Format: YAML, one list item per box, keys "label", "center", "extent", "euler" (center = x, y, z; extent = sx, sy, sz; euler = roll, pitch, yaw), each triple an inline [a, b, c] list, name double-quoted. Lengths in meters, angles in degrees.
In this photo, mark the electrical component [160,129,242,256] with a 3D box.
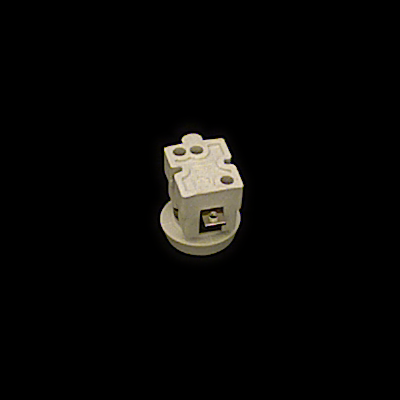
- label: "electrical component"
  center: [0.000, 0.000, 0.641]
  extent: [0.049, 0.056, 0.065]
  euler: [-9, 44, -12]
